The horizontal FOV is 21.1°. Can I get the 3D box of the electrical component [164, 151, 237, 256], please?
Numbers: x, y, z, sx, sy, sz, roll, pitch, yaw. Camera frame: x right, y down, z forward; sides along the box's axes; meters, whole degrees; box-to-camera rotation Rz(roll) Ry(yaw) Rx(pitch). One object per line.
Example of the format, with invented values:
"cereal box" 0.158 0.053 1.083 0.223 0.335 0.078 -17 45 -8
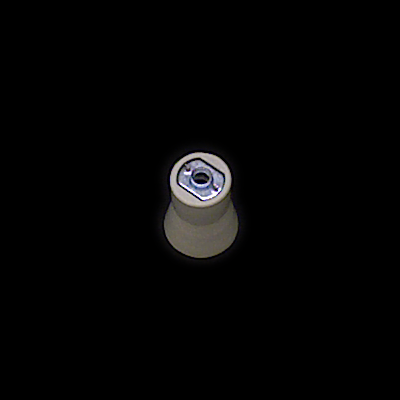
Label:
"electrical component" 0.000 0.000 0.624 0.044 0.044 0.065 0 -26 1
